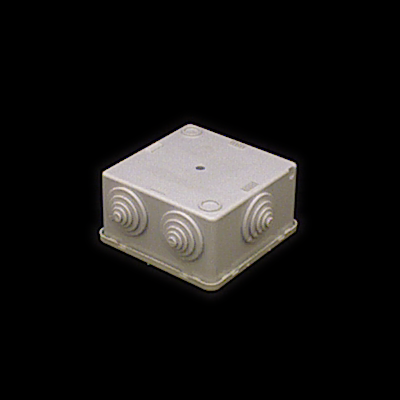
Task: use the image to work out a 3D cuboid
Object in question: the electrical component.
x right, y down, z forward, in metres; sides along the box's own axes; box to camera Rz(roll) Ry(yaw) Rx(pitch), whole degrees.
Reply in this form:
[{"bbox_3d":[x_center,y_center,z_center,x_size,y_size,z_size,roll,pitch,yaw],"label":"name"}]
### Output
[{"bbox_3d":[0.000,0.000,0.637,0.099,0.049,0.099,23,38,31],"label":"electrical component"}]
